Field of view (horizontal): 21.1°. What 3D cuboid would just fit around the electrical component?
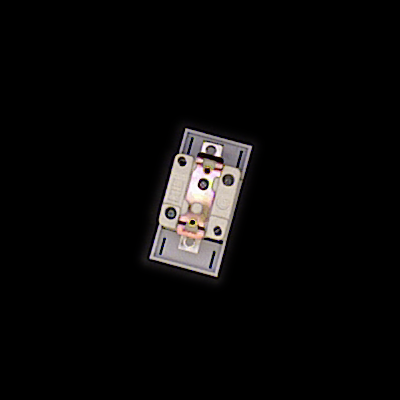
[{"bbox_3d":[0.000,0.000,0.626,0.042,0.081,0.063,15,-6,2],"label":"electrical component"}]
